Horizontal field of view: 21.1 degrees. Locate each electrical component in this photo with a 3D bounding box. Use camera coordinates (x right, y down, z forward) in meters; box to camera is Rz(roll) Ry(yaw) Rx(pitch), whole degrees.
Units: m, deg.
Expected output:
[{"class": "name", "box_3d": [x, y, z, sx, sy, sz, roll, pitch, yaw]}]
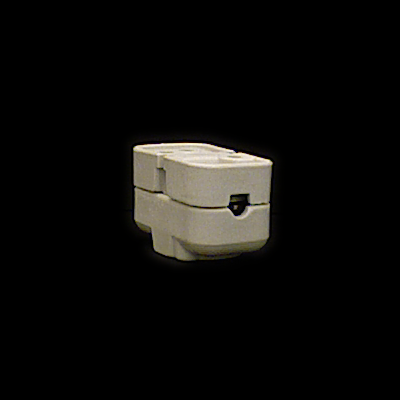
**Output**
[{"class": "electrical component", "box_3d": [0.000, 0.000, 0.649, 0.054, 0.060, 0.093, -5, 13, -29]}]
